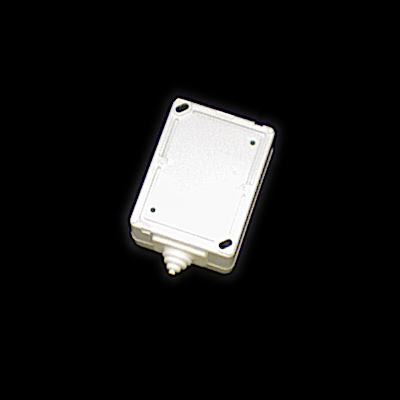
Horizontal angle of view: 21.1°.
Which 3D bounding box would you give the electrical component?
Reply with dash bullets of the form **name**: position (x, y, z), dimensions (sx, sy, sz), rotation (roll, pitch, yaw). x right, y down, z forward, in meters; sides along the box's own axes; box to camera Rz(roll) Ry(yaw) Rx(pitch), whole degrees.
- **electrical component**: position (0.000, 0.000, 0.623), dimensions (0.062, 0.097, 0.060), rotation (18, -16, 5)
